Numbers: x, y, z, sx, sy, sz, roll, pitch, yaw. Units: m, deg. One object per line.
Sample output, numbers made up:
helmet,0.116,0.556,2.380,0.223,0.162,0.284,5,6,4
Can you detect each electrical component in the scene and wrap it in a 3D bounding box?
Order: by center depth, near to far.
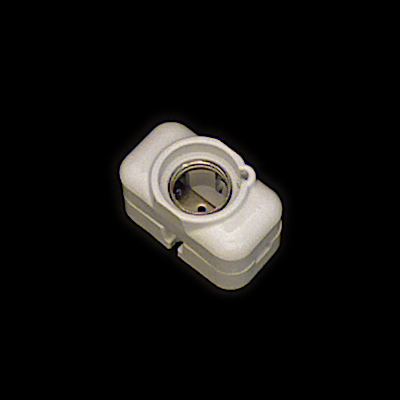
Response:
electrical component,0.000,0.000,0.634,0.095,0.054,0.059,37,-20,16
